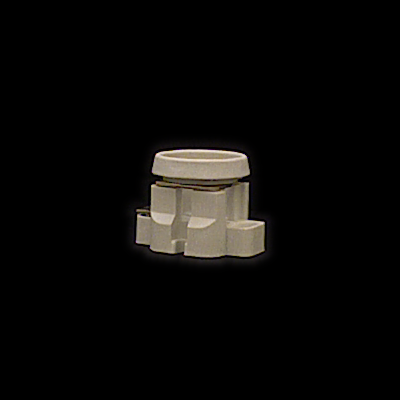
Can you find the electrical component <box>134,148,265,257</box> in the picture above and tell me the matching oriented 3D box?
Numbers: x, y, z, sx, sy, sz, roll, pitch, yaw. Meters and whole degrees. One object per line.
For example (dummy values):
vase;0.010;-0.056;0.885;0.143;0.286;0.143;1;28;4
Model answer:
electrical component;0.000;0.000;0.644;0.078;0.057;0.058;7;12;26
